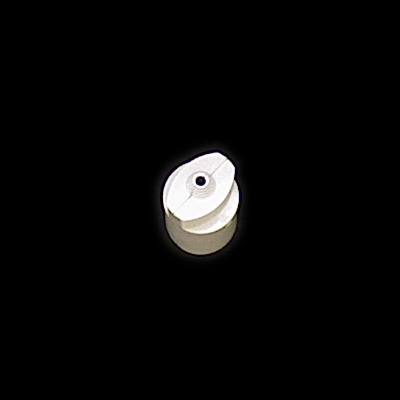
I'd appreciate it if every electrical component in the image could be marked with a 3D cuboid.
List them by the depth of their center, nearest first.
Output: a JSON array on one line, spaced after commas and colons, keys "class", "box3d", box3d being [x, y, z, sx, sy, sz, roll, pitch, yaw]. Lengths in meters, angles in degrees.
[{"class": "electrical component", "box3d": [0.000, 0.000, 0.616, 0.043, 0.043, 0.080, 0, -16, 1]}]
